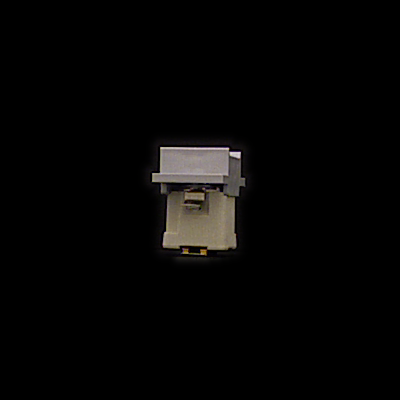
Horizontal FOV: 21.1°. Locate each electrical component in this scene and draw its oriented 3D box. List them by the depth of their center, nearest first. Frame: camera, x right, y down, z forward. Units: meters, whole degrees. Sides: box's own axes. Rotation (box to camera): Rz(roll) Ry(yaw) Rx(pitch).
[{"bbox_3d":[0.000,0.000,0.652,0.042,0.064,0.081,0,1,12],"label":"electrical component"}]
